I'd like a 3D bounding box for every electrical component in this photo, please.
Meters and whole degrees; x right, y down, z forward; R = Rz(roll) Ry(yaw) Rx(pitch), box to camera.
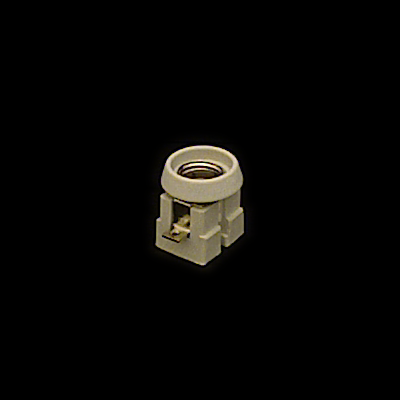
[{"bbox_3d":[0.000,0.000,0.642,0.048,0.056,0.066,18,36,28],"label":"electrical component"}]
